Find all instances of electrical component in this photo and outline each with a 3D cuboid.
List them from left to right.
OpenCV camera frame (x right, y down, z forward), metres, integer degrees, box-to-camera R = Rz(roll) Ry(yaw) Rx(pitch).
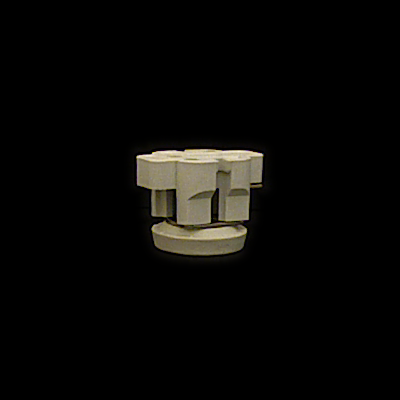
[{"bbox_3d":[0.000,0.000,0.653,0.079,0.057,0.057,-4,12,-32],"label":"electrical component"}]
